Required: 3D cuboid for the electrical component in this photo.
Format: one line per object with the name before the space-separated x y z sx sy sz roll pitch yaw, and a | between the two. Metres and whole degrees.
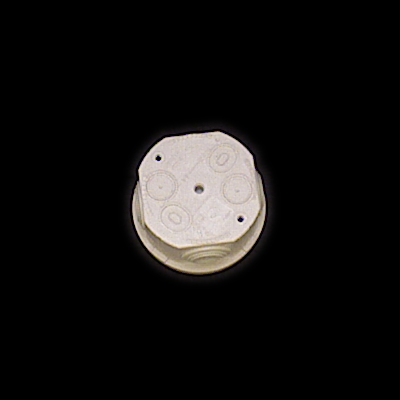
electrical component | 0.000 0.000 0.632 0.080 0.080 0.050 0 -17 -1
